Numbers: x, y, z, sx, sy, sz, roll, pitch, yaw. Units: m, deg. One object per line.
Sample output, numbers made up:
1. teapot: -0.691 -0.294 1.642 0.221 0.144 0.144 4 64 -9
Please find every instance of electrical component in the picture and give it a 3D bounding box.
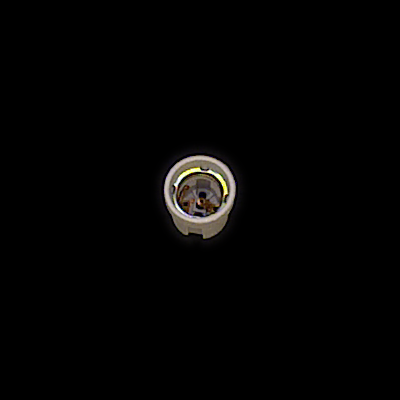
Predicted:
1. electrical component: 0.000 0.000 0.628 0.040 0.040 0.046 0 -17 0
